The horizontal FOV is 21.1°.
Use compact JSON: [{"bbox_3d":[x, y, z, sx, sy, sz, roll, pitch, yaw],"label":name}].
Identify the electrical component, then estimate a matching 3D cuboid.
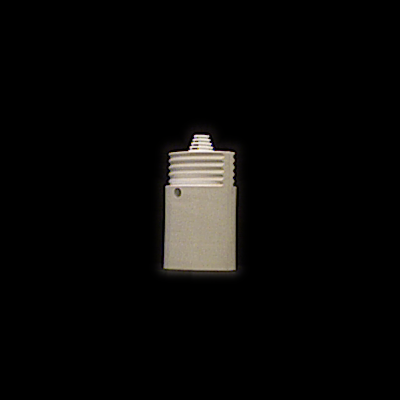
[{"bbox_3d":[0.000,0.000,0.650,0.043,0.081,0.043,1,1,0],"label":"electrical component"}]
